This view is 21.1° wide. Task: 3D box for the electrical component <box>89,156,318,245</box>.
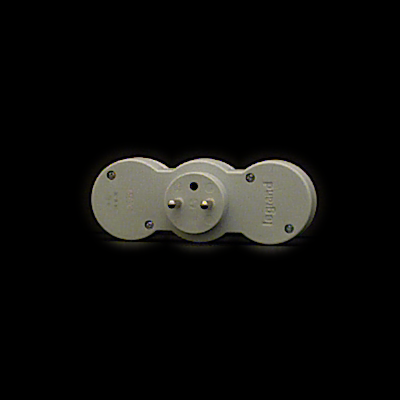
[{"bbox_3d":[0.000,0.000,0.653,0.137,0.052,0.074,2,3,10],"label":"electrical component"}]
